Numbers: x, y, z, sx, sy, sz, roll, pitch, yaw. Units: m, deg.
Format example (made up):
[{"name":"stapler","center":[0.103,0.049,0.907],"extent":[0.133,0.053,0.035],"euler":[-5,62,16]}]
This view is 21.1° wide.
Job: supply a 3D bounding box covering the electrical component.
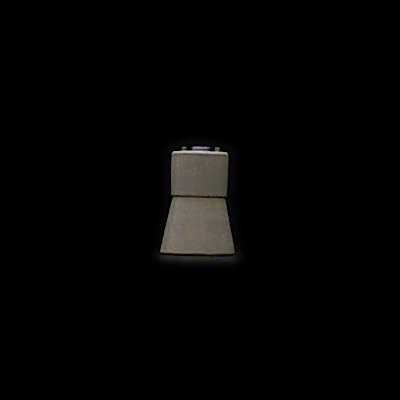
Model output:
[{"name":"electrical component","center":[0.000,0.000,0.648],"extent":[0.044,0.065,0.044],"euler":[1,2,0]}]
